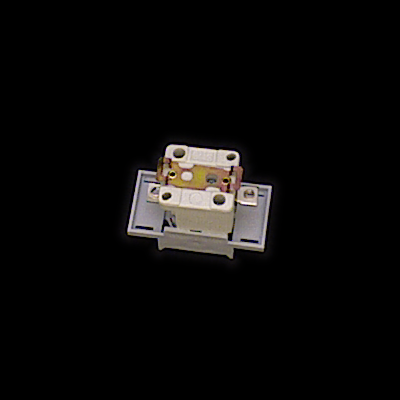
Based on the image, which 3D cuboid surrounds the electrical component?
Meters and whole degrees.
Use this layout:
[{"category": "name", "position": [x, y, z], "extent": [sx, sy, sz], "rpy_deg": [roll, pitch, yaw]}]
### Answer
[{"category": "electrical component", "position": [0.000, 0.000, 0.625], "extent": [0.081, 0.042, 0.063], "rpy_deg": [7, -27, 3]}]
